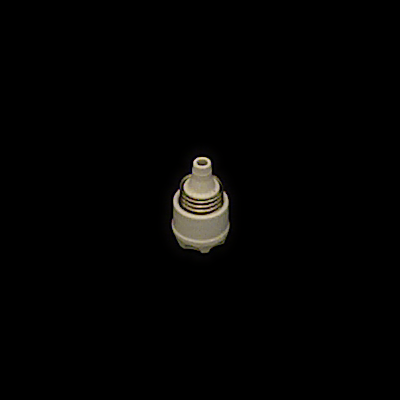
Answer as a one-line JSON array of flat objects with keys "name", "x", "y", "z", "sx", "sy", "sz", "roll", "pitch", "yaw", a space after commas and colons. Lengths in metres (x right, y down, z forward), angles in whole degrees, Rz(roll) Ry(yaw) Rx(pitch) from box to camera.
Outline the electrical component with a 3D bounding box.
[{"name": "electrical component", "x": 0.000, "y": 0.000, "z": 0.643, "sx": 0.035, "sy": 0.062, "sz": 0.035, "roll": 1, "pitch": 42, "yaw": -1}]
